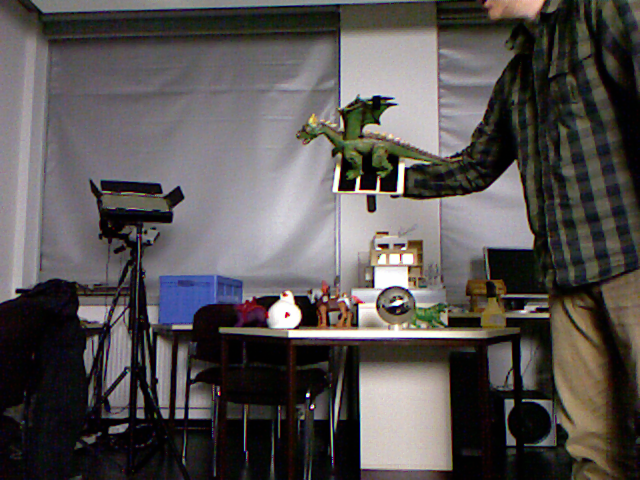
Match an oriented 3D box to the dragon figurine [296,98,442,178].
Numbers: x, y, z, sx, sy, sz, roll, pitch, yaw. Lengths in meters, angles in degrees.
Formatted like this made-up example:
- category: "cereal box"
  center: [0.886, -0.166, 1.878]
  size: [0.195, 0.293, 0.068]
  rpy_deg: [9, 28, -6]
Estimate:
- category: "dragon figurine"
  center: [0.140, -0.292, 1.437]
  size: [0.410, 0.125, 0.237]
  rpy_deg: [-3, -31, 5]
